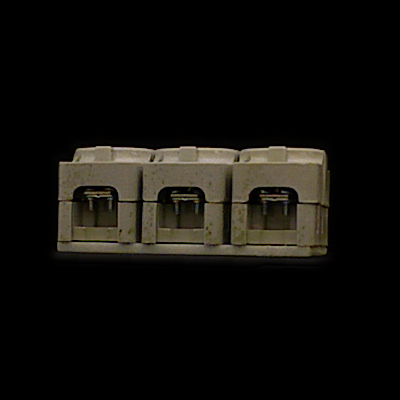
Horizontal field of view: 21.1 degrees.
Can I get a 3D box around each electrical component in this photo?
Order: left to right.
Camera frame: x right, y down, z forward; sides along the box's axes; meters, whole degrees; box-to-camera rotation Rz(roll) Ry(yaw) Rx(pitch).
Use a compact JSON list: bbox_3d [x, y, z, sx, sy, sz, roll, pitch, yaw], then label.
[{"bbox_3d":[0.000,0.000,0.655,0.150,0.062,0.089,1,0,12],"label":"electrical component"}]
